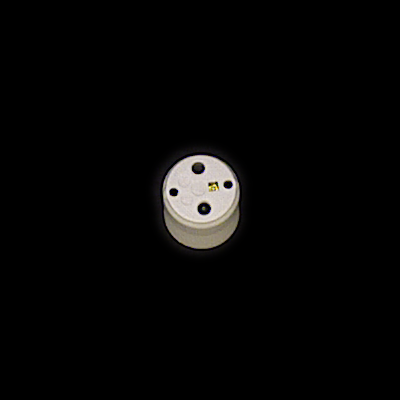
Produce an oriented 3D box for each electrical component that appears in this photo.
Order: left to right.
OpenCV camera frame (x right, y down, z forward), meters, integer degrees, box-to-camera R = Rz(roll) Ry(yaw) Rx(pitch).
[{"bbox_3d":[0.000,0.000,0.628,0.045,0.045,0.055,0,-16,1],"label":"electrical component"}]
